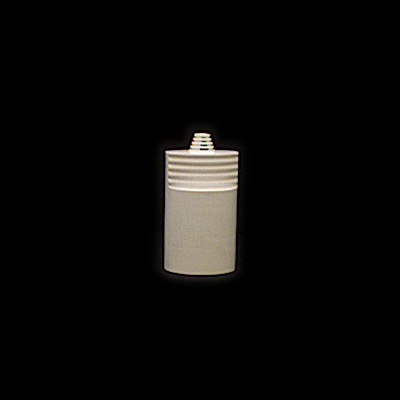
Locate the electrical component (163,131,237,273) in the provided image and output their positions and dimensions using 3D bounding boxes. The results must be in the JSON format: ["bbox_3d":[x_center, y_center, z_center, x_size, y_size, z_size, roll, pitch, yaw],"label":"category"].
[{"bbox_3d":[0.000,0.000,0.642,0.043,0.081,0.043,1,11,0],"label":"electrical component"}]
